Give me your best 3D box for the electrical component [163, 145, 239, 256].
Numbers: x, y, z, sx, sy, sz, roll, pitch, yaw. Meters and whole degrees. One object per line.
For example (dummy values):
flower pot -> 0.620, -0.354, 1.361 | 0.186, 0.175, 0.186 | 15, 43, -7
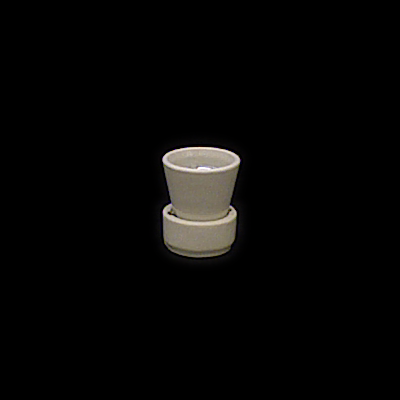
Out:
electrical component -> 0.000, 0.000, 0.639 | 0.045, 0.056, 0.044 | 1, 22, 0
